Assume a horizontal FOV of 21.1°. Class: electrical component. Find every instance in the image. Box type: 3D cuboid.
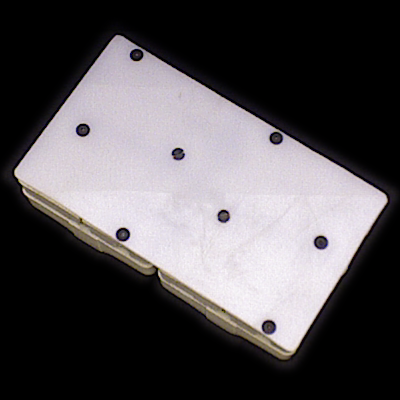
[{"bbox_3d":[0.000,0.000,0.625,0.186,0.106,0.060,32,-14,9],"label":"electrical component"}]
